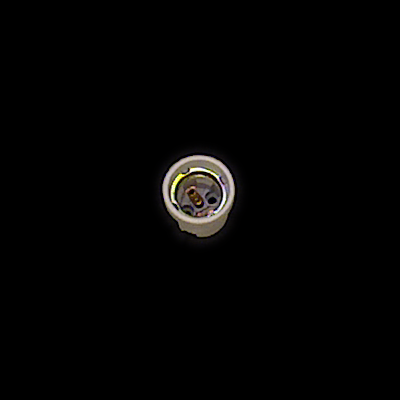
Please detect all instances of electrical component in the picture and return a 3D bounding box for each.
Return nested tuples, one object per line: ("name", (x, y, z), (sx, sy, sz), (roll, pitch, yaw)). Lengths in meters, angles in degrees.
("electrical component", (0.000, 0.000, 0.626), (0.040, 0.040, 0.046), (0, -17, 0))
